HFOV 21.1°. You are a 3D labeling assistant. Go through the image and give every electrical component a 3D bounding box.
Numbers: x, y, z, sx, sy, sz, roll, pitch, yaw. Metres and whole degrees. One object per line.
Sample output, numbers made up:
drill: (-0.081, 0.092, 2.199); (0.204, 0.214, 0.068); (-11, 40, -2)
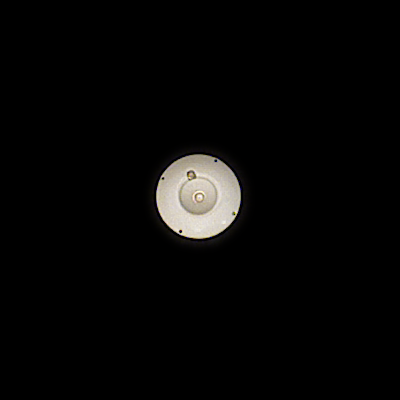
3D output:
electrical component: (0.000, 0.000, 0.634); (0.048, 0.048, 0.061); (0, -6, 1)
